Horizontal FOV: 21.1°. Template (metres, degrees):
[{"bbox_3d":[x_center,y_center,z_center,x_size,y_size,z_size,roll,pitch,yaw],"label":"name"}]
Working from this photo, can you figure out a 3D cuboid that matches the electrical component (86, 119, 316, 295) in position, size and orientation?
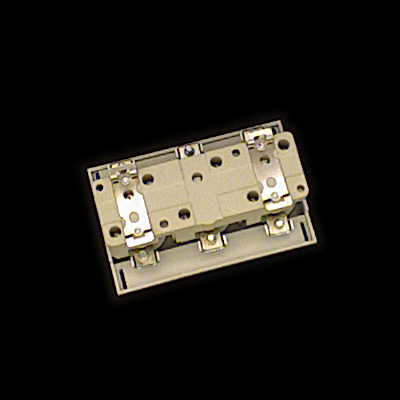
[{"bbox_3d":[0.000,0.000,0.633,0.122,0.079,0.062,-15,-15,-4],"label":"electrical component"}]
